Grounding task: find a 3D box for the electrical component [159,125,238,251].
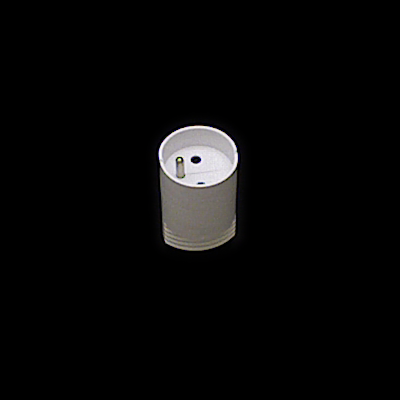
[{"bbox_3d":[0.000,0.000,0.617,0.043,0.043,0.081,0,-38,0],"label":"electrical component"}]
